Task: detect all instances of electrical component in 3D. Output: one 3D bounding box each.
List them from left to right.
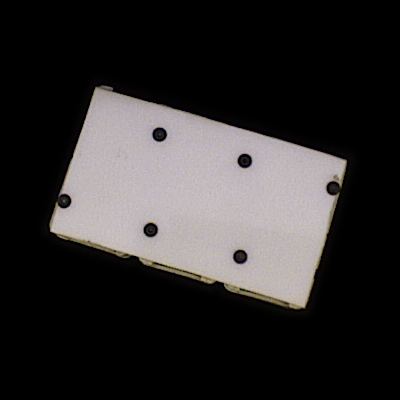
[{"bbox_3d":[0.000,0.000,0.631,0.150,0.089,0.061,17,-6,2],"label":"electrical component"}]
